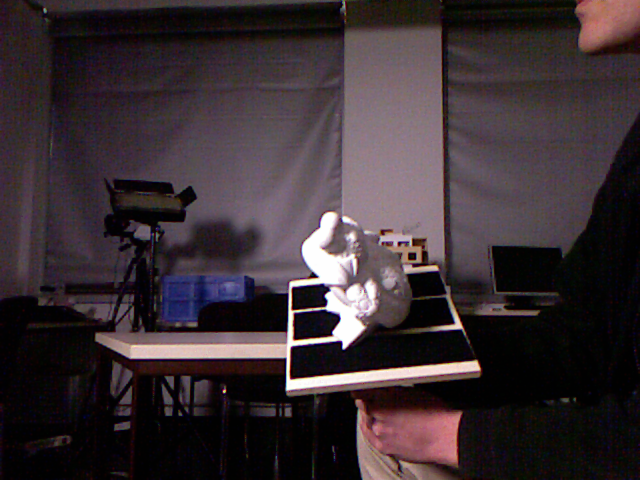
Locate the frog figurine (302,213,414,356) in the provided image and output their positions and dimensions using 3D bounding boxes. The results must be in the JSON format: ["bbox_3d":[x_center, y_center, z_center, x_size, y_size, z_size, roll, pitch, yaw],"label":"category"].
[{"bbox_3d":[0.044,0.033,0.582,0.123,0.156,0.141,0,32,9],"label":"frog figurine"}]
